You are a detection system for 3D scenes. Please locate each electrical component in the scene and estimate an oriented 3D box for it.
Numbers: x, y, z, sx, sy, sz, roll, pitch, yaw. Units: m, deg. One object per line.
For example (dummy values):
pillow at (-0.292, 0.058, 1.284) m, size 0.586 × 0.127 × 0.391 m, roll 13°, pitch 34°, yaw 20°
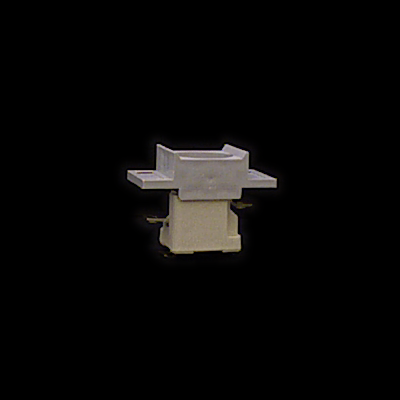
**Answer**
electrical component at (0.000, 0.000, 0.642) m, size 0.081 × 0.064 × 0.041 m, roll -1°, pitch 12°, yaw -16°
